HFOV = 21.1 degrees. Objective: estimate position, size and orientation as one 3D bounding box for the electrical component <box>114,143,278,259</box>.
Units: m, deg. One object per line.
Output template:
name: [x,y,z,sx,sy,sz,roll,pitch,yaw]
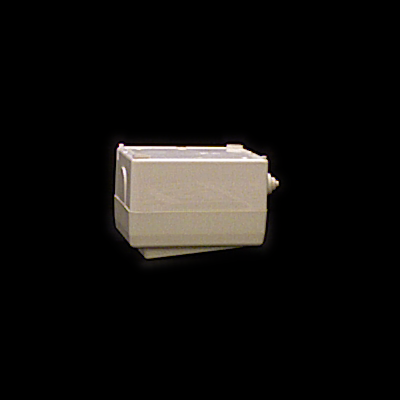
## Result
electrical component: [0.000,0.000,0.642,0.096,0.061,0.061,-1,11,-14]
